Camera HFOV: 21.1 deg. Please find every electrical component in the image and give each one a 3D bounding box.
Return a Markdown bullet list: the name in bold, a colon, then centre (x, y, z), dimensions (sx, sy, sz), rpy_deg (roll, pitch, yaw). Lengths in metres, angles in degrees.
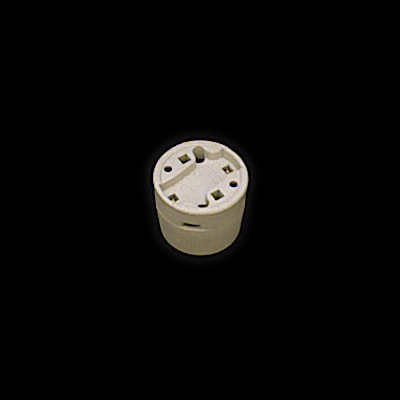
- **electrical component**: centre (0.000, 0.000, 0.635), dimensions (0.055, 0.055, 0.047), rpy_deg (0, -37, 0)
